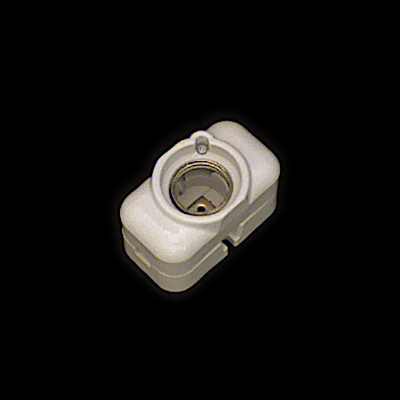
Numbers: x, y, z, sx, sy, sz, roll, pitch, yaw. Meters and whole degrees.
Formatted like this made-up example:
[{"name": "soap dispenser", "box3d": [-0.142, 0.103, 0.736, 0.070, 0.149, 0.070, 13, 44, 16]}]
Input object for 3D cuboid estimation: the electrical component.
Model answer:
[{"name": "electrical component", "box3d": [0.000, 0.000, 0.634, 0.096, 0.053, 0.059, -42, -19, -19]}]
